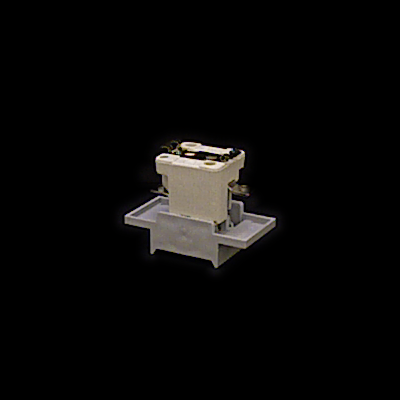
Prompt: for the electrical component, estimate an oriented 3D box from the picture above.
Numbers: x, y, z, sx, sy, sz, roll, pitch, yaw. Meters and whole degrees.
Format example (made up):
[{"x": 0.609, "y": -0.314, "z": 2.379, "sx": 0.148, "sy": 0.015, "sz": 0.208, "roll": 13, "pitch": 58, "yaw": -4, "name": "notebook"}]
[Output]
[{"x": 0.000, "y": 0.000, "z": 0.638, "sx": 0.080, "sy": 0.064, "sz": 0.042, "roll": 11, "pitch": 24, "yaw": 24, "name": "electrical component"}]
